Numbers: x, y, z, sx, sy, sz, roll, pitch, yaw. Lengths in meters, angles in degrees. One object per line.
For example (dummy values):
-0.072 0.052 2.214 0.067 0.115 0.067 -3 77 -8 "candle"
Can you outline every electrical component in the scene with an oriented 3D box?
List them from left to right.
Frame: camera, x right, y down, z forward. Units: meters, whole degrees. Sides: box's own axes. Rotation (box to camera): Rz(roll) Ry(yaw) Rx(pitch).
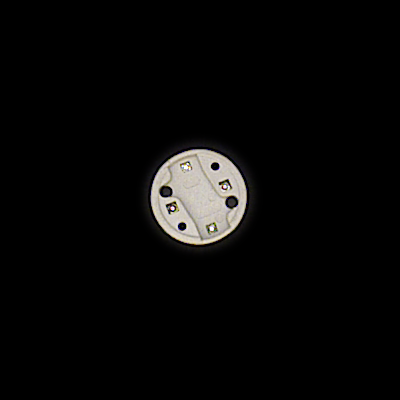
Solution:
0.000 0.000 0.636 0.055 0.055 0.047 0 -7 0 "electrical component"
